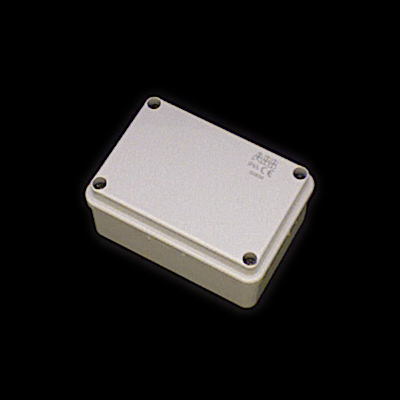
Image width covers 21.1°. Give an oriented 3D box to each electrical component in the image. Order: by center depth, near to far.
[{"bbox_3d":[0.000,0.000,0.628,0.113,0.078,0.057,26,-24,12],"label":"electrical component"}]
